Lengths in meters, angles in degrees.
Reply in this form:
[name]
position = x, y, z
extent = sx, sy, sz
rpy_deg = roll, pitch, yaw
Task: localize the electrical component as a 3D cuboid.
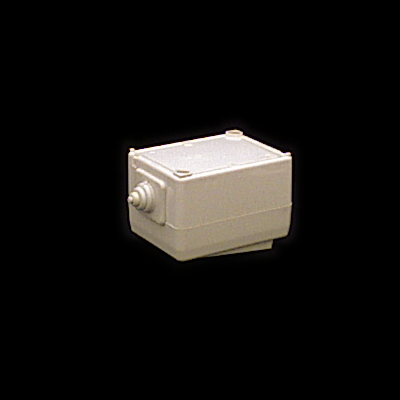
[electrical component]
position = 0.000, 0.000, 0.641
extent = 0.096, 0.061, 0.061
rpy_deg = -13, 25, -31
